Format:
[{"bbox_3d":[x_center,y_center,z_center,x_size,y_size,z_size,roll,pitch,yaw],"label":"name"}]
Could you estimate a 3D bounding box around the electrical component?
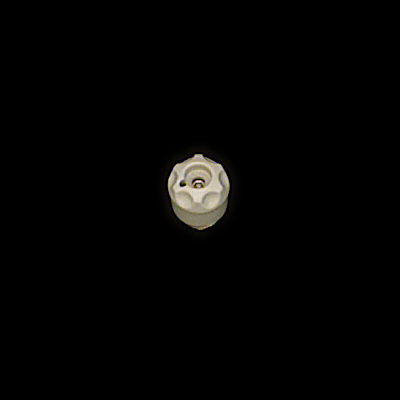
[{"bbox_3d":[0.000,0.000,0.633,0.035,0.035,0.061,0,-27,1],"label":"electrical component"}]
